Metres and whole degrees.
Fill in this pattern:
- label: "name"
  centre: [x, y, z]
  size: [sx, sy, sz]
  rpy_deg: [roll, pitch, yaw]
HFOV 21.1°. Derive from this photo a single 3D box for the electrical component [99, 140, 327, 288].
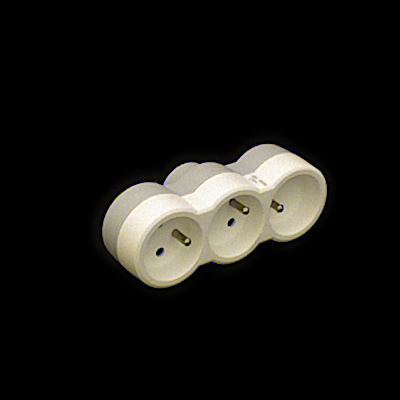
- label: "electrical component"
  centre: [0.000, 0.000, 0.646]
  size: [0.139, 0.053, 0.072]
  rpy_deg: [-19, 36, -29]
